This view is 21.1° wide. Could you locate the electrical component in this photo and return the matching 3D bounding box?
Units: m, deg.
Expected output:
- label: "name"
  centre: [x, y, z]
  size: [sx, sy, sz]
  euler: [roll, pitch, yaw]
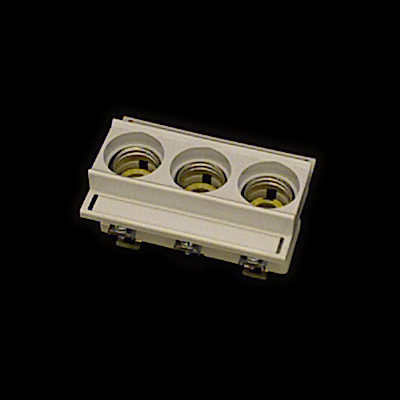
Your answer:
- label: "electrical component"
  centre: [0.000, 0.000, 0.640]
  size: [0.121, 0.078, 0.063]
  euler: [13, -37, 10]
